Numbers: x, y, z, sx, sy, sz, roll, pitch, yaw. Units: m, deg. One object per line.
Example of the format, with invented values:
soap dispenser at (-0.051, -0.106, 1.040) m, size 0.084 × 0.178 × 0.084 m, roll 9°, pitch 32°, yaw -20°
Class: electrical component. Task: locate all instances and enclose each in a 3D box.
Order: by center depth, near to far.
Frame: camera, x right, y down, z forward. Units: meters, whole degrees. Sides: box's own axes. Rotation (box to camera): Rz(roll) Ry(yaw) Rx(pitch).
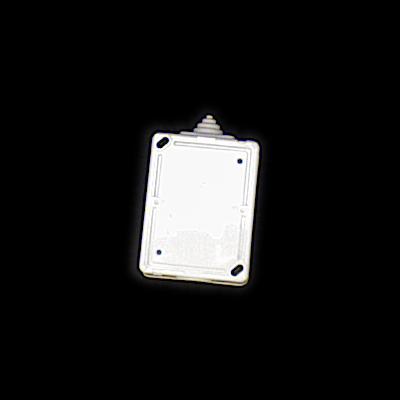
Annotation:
electrical component at (0.000, 0.000, 0.627) m, size 0.062 × 0.096 × 0.061 m, roll 5°, pitch -7°, yaw 2°
